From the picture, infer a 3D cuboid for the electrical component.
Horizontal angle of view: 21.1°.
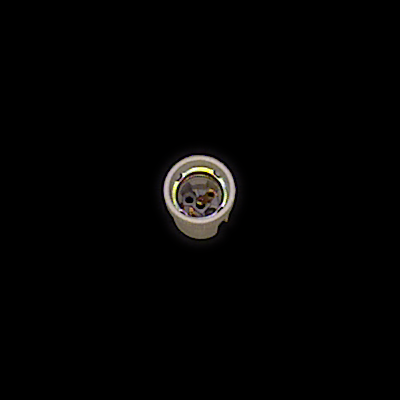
[{"bbox_3d":[0.000,0.000,0.627,0.040,0.040,0.046,0,-17,0],"label":"electrical component"}]
